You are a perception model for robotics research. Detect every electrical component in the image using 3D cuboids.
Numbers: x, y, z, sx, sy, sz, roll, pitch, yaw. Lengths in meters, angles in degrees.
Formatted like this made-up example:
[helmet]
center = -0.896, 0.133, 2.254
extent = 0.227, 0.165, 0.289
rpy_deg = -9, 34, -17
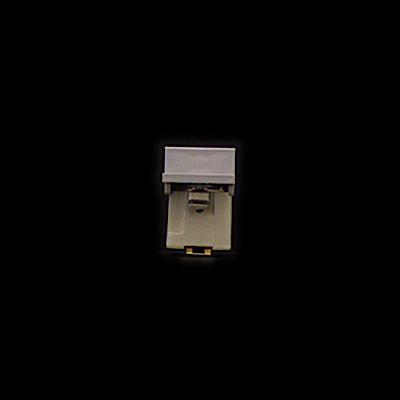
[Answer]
[electrical component]
center = 0.000, 0.000, 0.652
extent = 0.042, 0.064, 0.081
rpy_deg = 0, 1, 2
